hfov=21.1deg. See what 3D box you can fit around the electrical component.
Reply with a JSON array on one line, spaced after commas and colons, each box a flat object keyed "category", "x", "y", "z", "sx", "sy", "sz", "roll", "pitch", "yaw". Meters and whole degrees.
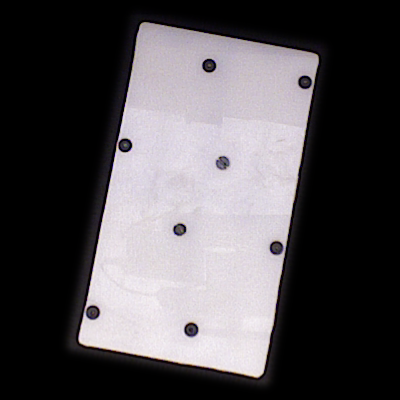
[{"category": "electrical component", "x": 0.000, "y": 0.000, "z": 0.626, "sx": 0.105, "sy": 0.187, "sz": 0.060, "roll": 10, "pitch": -7, "yaw": 1}]
